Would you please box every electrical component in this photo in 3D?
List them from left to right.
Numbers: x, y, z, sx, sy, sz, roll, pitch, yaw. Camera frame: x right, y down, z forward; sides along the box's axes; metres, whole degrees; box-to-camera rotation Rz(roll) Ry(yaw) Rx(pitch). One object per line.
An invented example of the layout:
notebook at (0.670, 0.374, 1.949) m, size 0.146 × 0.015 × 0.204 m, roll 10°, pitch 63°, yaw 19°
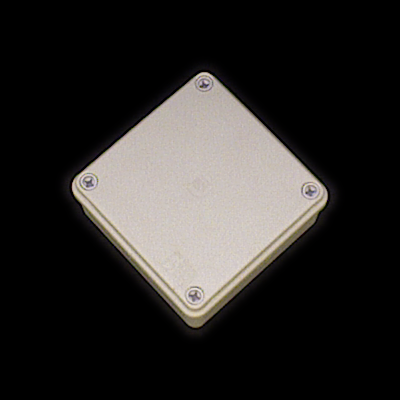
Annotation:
electrical component at (0.000, 0.000, 0.630) m, size 0.109 × 0.109 × 0.056 m, roll -41°, pitch -12°, yaw -12°
